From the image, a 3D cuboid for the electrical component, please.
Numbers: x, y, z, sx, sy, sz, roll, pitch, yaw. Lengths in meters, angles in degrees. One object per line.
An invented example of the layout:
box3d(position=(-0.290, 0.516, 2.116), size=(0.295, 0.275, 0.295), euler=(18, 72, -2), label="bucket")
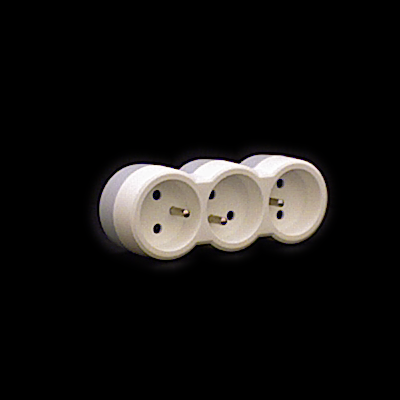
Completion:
box3d(position=(0.000, 0.000, 0.643), size=(0.138, 0.052, 0.073), euler=(-6, 11, -33), label="electrical component")
